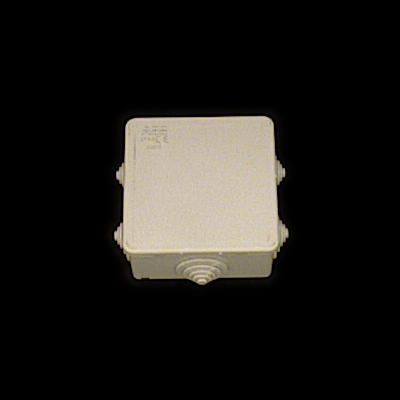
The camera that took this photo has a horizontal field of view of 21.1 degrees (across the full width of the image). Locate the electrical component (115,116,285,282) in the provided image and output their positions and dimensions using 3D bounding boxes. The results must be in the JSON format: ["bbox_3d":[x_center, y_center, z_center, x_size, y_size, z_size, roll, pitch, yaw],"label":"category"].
[{"bbox_3d":[0.000,0.000,0.640,0.100,0.100,0.048,0,-27,0],"label":"electrical component"}]
